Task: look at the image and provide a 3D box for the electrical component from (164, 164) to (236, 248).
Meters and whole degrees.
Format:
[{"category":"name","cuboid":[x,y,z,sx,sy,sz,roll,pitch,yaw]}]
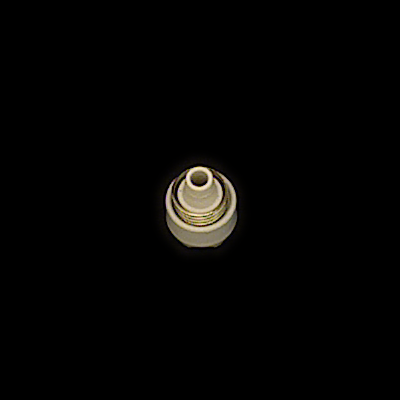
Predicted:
[{"category":"electrical component","cuboid":[0.000,0.000,0.633,0.043,0.043,0.062,0,-26,1]}]
